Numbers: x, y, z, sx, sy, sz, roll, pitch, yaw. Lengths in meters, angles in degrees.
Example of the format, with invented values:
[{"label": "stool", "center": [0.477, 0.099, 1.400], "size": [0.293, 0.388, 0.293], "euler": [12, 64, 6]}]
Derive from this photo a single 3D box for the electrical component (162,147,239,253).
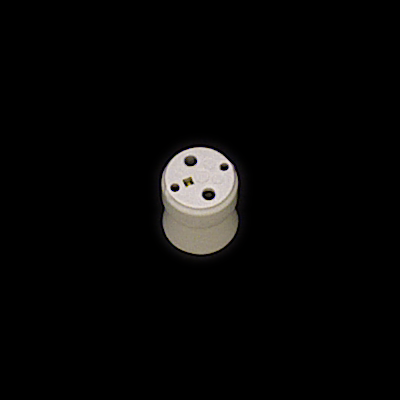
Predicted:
[{"label": "electrical component", "center": [0.000, 0.000, 0.629], "size": [0.045, 0.045, 0.055], "euler": [0, -27, -1]}]
